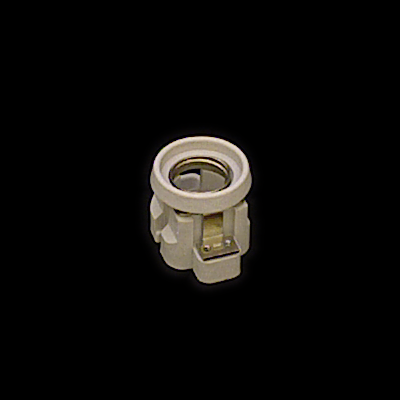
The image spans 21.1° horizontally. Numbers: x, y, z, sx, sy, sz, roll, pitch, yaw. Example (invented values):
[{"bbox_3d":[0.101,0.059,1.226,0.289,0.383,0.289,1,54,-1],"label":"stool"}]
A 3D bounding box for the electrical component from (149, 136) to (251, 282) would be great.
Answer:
[{"bbox_3d":[0.000,0.000,0.631,0.058,0.057,0.077,-13,44,-15],"label":"electrical component"}]
